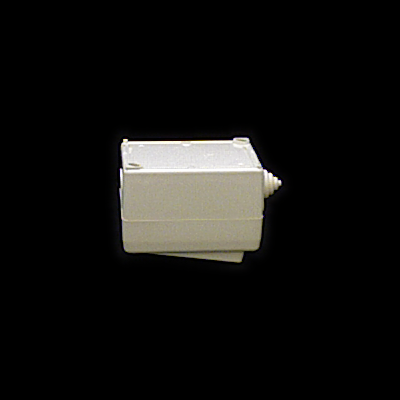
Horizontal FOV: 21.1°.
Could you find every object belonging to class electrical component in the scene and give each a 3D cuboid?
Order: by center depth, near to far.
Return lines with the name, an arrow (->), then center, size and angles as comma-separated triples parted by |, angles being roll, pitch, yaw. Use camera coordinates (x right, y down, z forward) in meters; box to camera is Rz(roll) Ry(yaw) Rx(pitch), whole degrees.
electrical component -> 0.000, 0.000, 0.642 | 0.096, 0.061, 0.061 | -1, 20, -5
